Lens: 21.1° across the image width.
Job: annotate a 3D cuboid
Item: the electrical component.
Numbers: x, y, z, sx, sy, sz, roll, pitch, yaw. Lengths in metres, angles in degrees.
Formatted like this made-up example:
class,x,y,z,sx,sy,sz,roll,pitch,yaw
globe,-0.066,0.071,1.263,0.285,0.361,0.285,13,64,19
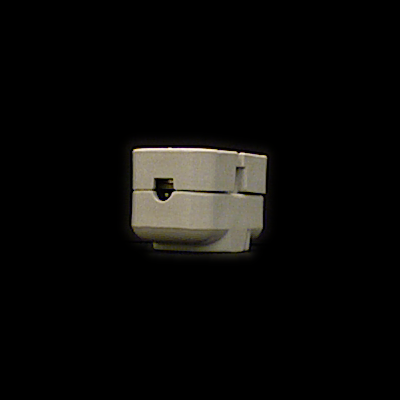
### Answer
class,x,y,z,sx,sy,sz,roll,pitch,yaw
electrical component,0.000,0.000,0.657,0.053,0.059,0.096,2,0,27
